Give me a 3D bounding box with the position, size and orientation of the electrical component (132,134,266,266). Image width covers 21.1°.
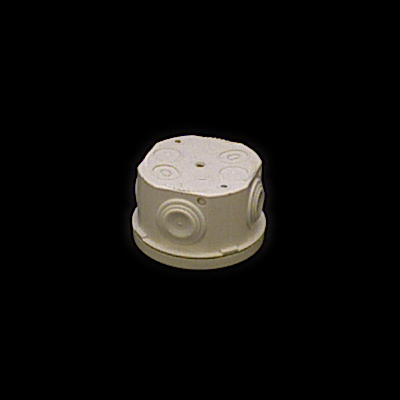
[{"bbox_3d":[0.000,0.000,0.636,0.080,0.051,0.079,1,32,-1],"label":"electrical component"}]
